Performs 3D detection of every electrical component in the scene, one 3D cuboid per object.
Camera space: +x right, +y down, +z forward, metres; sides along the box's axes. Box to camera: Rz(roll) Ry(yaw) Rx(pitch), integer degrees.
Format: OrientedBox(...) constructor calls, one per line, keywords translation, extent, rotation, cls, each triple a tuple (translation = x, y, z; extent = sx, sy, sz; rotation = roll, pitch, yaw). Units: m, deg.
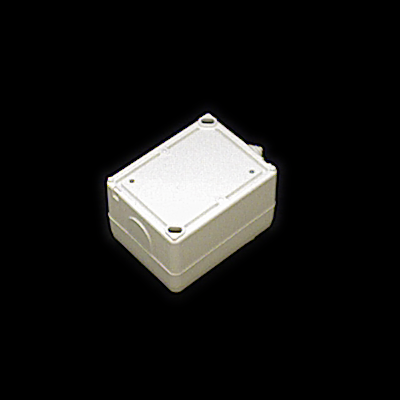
OrientedBox(translation=(0.001, 0.000, 0.632), extent=(0.096, 0.061, 0.061), rotation=(-35, 59, -24), cls="electrical component")
